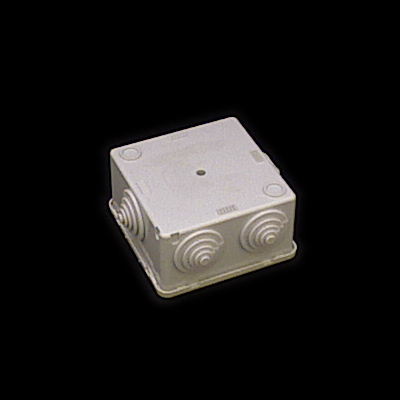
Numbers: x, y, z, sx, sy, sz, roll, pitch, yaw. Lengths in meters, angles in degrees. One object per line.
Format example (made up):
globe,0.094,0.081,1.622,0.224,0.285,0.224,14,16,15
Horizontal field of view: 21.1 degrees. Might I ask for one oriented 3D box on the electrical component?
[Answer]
electrical component,0.000,0.000,0.633,0.100,0.049,0.099,-16,45,-18
